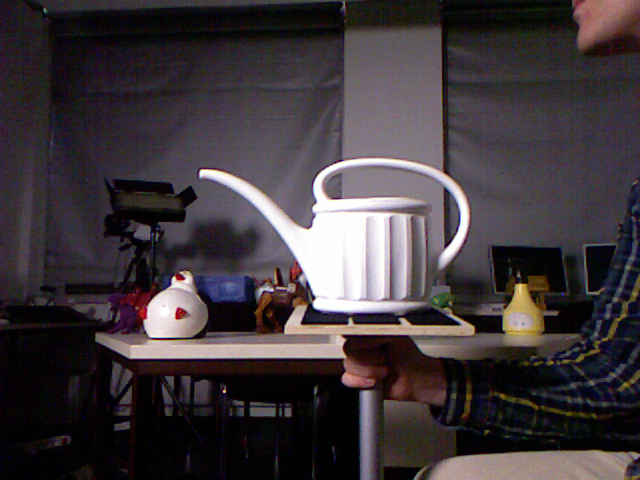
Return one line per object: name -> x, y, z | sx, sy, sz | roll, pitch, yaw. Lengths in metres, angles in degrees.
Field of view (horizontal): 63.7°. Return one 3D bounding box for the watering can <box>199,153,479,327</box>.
watering can -> 0.023, 0.004, 0.649 | 0.351, 0.226, 0.105 | 1, 2, 0
